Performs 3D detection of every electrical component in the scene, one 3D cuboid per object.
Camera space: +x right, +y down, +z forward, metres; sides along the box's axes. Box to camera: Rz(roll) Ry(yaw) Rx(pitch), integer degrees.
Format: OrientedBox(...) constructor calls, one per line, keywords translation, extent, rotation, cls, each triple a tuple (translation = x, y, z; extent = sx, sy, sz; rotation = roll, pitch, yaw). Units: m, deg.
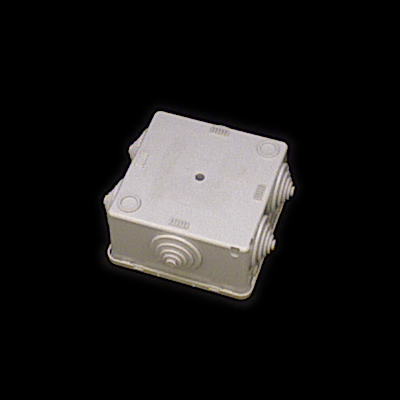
OrientedBox(translation=(0.000, 0.000, 0.632), extent=(0.099, 0.099, 0.049), rotation=(15, -36, 11), cls="electrical component")
